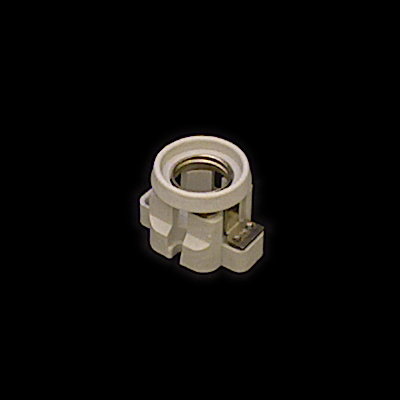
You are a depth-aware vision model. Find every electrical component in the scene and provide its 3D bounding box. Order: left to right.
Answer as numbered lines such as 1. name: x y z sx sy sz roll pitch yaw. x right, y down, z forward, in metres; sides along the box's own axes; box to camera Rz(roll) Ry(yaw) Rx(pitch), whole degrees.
1. electrical component: 0.000 0.000 0.631 0.078 0.057 0.057 26 48 25
